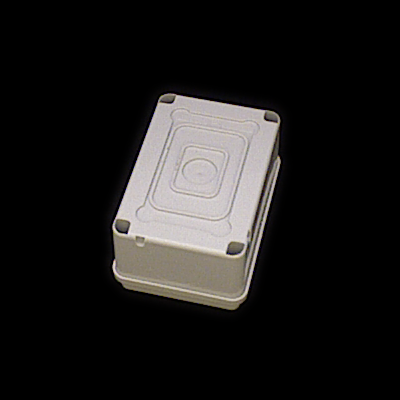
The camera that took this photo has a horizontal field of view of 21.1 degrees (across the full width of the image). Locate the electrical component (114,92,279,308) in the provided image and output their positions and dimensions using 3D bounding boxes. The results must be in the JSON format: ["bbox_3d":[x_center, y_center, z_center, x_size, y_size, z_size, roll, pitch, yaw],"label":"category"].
[{"bbox_3d":[0.000,0.000,0.629,0.078,0.113,0.057,11,-38,8],"label":"electrical component"}]
